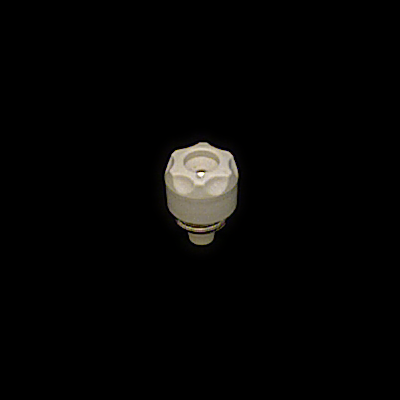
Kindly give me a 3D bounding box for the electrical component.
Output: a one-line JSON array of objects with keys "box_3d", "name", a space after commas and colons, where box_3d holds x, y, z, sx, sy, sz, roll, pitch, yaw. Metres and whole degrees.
[{"box_3d": [0.000, 0.000, 0.639, 0.043, 0.062, 0.043, 0, 42, 0], "name": "electrical component"}]
